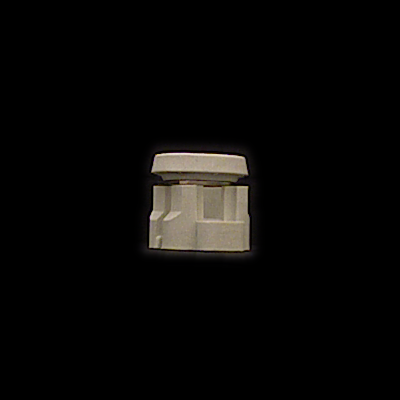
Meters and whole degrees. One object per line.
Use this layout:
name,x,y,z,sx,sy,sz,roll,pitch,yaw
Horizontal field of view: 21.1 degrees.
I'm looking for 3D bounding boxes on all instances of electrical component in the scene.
electrical component,0.000,0.000,0.650,0.058,0.057,0.078,1,1,-25
